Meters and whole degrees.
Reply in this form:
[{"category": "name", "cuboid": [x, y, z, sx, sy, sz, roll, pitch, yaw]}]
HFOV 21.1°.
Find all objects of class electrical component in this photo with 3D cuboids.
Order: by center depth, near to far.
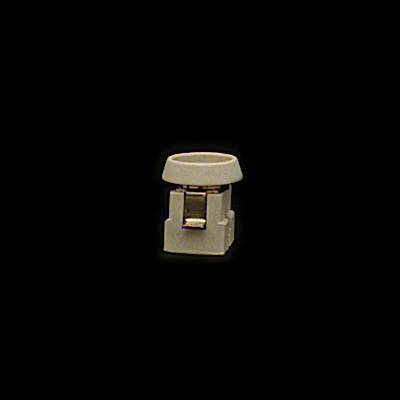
[{"category": "electrical component", "cuboid": [0.000, 0.000, 0.651, 0.048, 0.056, 0.066, 1, 11, 8]}]
